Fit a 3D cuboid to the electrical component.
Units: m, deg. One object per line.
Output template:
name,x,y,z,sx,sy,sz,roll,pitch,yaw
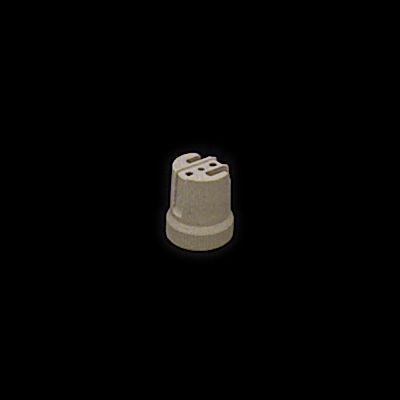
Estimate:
electrical component,0.000,0.000,0.638,0.040,0.046,0.040,1,33,0
